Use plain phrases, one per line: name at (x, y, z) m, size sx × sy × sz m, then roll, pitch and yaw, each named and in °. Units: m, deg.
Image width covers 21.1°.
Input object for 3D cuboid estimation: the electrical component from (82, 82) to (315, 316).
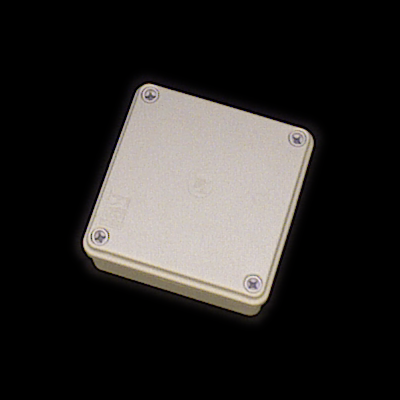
electrical component at (0.000, 0.000, 0.630) m, size 0.109 × 0.109 × 0.056 m, roll 17°, pitch -16°, yaw 4°
